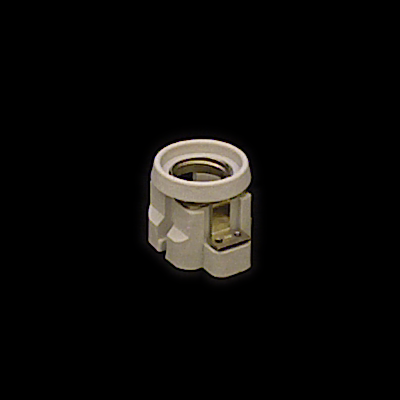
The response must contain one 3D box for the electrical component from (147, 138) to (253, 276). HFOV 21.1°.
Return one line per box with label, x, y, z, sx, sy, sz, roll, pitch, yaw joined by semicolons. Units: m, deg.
electrical component;0.000;0.000;0.634;0.058;0.057;0.077;-18;36;-28
